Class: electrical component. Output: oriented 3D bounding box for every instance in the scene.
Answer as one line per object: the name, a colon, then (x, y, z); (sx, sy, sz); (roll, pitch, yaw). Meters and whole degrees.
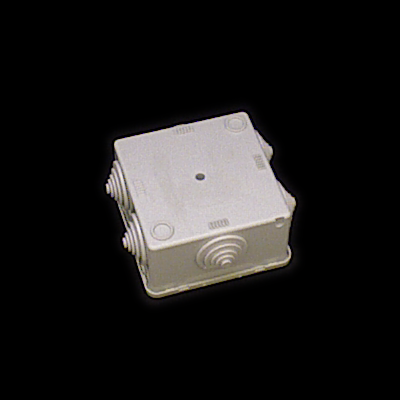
electrical component: (0.000, 0.000, 0.632); (0.100, 0.099, 0.049); (-13, -36, -11)
